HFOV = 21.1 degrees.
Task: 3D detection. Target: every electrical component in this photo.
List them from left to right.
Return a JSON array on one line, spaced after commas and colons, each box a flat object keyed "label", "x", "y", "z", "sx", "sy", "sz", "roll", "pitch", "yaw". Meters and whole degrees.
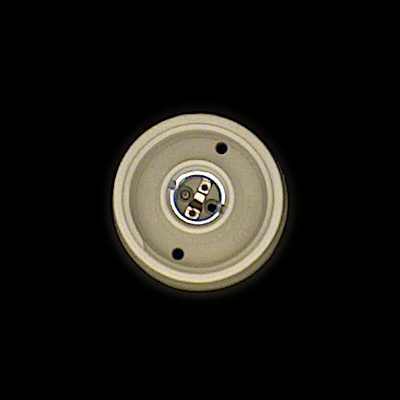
[{"label": "electrical component", "x": 0.000, "y": 0.000, "z": 0.634, "sx": 0.108, "sy": 0.108, "sz": 0.060, "roll": 0, "pitch": -6, "yaw": 0}]
